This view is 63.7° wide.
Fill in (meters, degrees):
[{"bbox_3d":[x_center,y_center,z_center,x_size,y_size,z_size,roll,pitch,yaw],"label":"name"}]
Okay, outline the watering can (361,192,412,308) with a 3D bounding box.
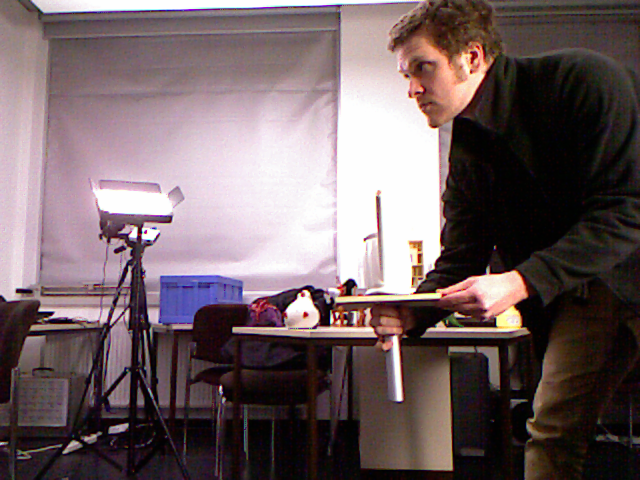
[{"bbox_3d":[0.135,0.028,1.074,0.104,0.226,0.345,-5,-10,9],"label":"watering can"}]
